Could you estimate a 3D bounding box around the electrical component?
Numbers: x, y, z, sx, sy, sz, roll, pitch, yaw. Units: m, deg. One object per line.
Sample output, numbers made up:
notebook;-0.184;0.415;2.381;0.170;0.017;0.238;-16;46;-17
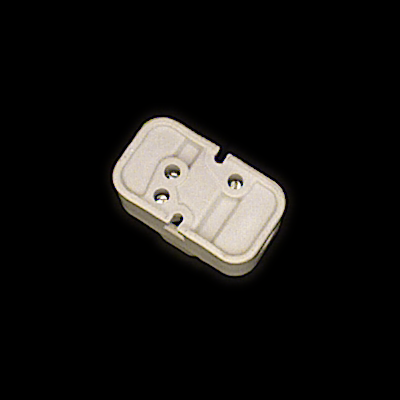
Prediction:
electrical component;0.000;0.000;0.635;0.095;0.054;0.059;32;-13;8
